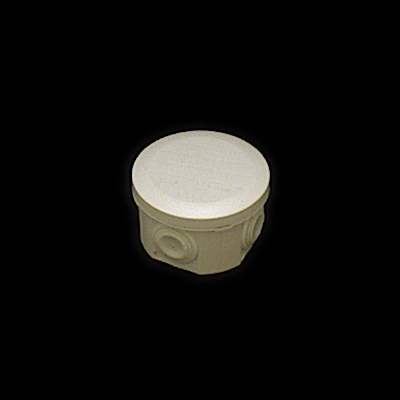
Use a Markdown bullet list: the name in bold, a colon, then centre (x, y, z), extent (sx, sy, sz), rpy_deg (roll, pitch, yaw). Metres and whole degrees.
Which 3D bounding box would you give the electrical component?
- **electrical component**: centre (0.000, 0.000, 0.633), extent (0.080, 0.051, 0.079), rpy_deg (1, 42, 0)
